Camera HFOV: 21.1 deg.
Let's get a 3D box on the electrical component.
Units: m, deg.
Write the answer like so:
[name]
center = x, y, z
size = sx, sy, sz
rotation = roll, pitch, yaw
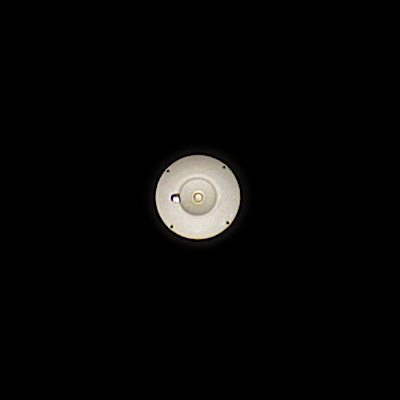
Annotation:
[electrical component]
center = 0.000, 0.000, 0.634
size = 0.048, 0.048, 0.061
rotation = 0, -6, 1
